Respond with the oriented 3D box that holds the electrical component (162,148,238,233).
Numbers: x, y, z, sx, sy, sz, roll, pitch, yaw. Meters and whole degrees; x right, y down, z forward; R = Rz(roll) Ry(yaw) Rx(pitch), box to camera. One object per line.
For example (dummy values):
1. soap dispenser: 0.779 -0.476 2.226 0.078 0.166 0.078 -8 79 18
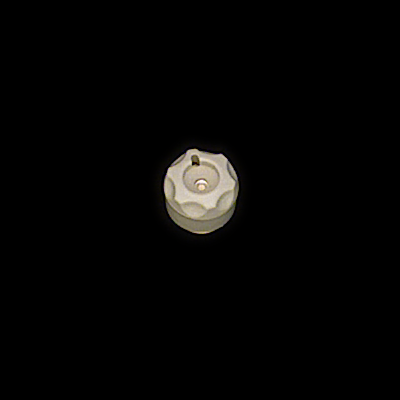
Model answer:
1. electrical component: 0.000 0.000 0.634 0.043 0.043 0.062 0 -26 0
